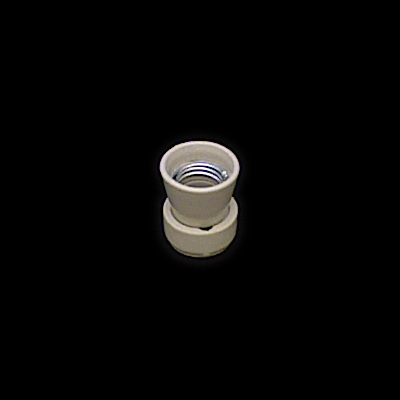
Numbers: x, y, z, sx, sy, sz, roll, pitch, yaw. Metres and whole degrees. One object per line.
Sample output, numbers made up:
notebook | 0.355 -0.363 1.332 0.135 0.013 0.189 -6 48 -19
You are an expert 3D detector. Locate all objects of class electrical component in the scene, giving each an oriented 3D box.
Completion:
electrical component | 0.000 0.000 0.630 0.045 0.055 0.044 0 42 0
